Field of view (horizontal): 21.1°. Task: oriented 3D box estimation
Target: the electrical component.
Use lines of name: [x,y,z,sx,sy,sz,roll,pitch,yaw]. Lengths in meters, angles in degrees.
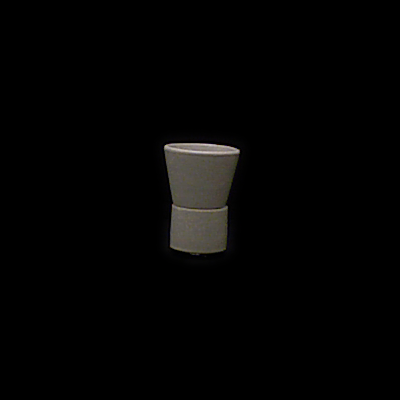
electrical component: [0.000,0.000,0.646,0.044,0.066,0.044,2,10,0]
